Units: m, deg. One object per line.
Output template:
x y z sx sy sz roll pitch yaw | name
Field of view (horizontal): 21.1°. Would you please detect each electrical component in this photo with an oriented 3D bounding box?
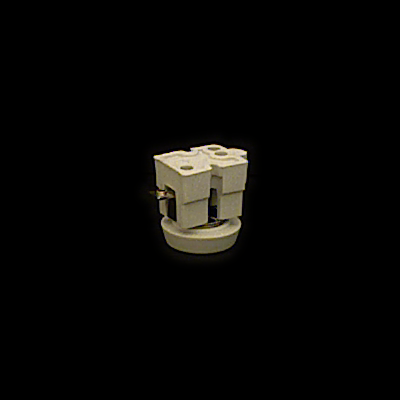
0.000 0.000 0.648 0.067 0.056 0.047 -12 27 -28 | electrical component
